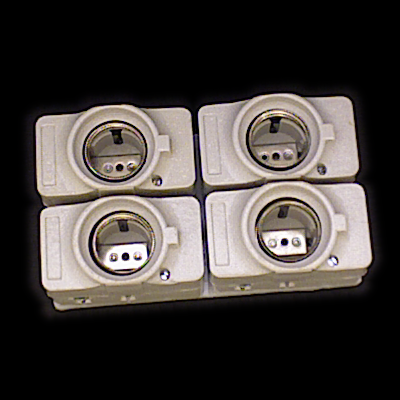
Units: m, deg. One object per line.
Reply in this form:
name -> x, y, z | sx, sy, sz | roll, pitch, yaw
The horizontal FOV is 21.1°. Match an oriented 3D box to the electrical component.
electrical component -> 0.000, 0.000, 0.626 | 0.186, 0.106, 0.060 | -4, -17, -1
